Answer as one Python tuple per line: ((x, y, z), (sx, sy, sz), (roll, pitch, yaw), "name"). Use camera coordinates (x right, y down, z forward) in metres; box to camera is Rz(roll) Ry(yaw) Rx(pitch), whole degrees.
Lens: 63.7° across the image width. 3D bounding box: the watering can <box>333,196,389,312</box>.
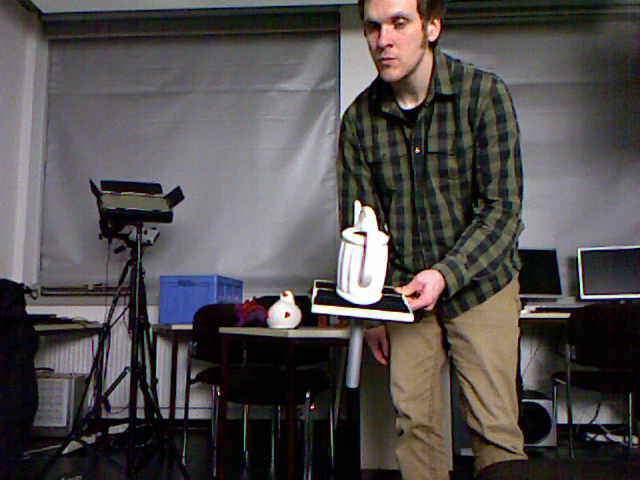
((0.086, 0.021, 1.132), (0.104, 0.223, 0.352), (5, 13, -5), "watering can")
